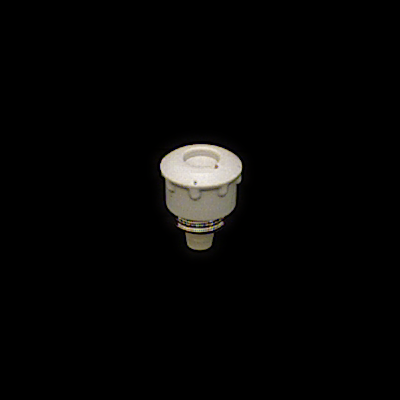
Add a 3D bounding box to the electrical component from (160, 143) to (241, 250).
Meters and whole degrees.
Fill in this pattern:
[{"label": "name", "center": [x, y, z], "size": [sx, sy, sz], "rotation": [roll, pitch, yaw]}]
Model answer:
[{"label": "electrical component", "center": [0.000, 0.000, 0.642], "size": [0.048, 0.063, 0.047], "rotation": [1, 32, 0]}]
